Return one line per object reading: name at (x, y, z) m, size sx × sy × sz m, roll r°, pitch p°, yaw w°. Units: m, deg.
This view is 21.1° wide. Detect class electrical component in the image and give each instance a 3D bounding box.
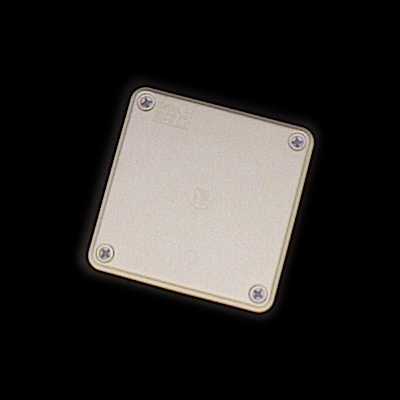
electrical component at (0.000, 0.000, 0.630) m, size 0.109 × 0.109 × 0.056 m, roll 15°, pitch -6°, yaw 2°
